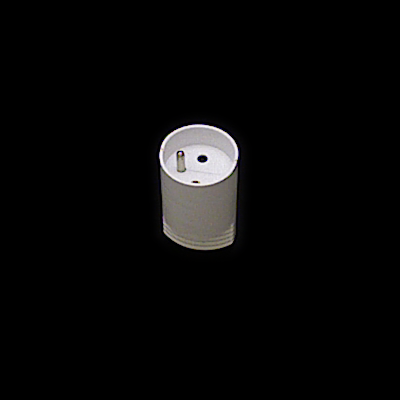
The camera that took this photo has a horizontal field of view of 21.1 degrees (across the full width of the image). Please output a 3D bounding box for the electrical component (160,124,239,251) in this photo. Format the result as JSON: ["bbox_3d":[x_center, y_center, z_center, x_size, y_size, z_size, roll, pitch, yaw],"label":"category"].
[{"bbox_3d":[0.000,0.000,0.618,0.043,0.043,0.081,0,-39,0],"label":"electrical component"}]
